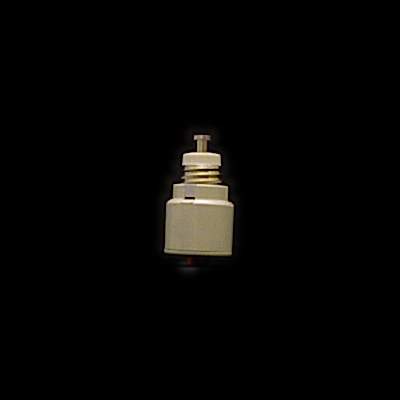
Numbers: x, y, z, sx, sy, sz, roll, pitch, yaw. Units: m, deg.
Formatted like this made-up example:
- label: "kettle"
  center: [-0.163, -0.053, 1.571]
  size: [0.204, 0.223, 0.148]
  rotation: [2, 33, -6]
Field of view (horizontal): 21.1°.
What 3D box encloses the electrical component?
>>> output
- label: "electrical component"
  center: [0.000, 0.000, 0.650]
  size: [0.040, 0.078, 0.040]
  rotation: [2, 1, 0]
